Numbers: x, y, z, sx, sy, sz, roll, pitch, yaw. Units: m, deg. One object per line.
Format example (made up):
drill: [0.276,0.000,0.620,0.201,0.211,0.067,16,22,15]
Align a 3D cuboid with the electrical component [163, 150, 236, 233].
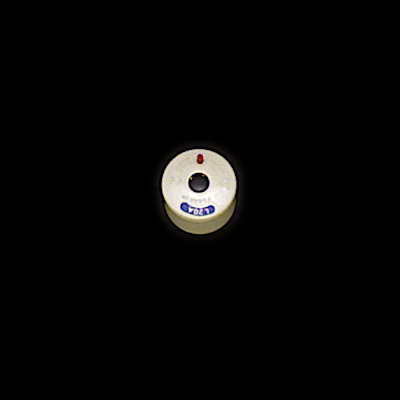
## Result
electrical component: [0.000,0.000,0.618,0.040,0.040,0.078,0,-17,0]
